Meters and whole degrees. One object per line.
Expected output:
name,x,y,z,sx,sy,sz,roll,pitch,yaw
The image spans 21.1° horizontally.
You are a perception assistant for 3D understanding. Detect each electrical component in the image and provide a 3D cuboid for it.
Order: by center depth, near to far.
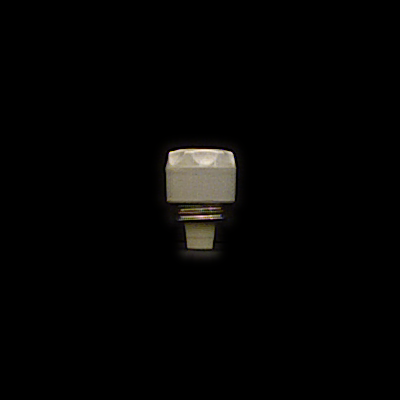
electrical component,0.000,0.000,0.656,0.043,0.062,0.043,1,2,1
